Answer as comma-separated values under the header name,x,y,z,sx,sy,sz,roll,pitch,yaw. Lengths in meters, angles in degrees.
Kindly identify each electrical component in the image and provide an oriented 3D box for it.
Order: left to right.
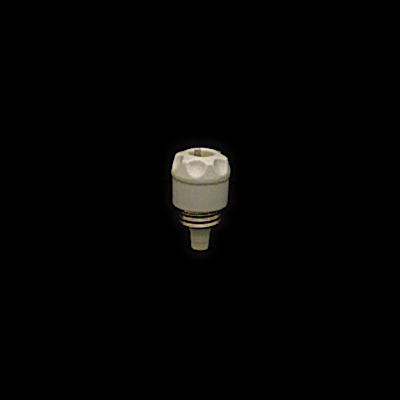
name,x,y,z,sx,sy,sz,roll,pitch,yaw
electrical component,0.000,0.000,0.648,0.035,0.062,0.034,1,22,0
